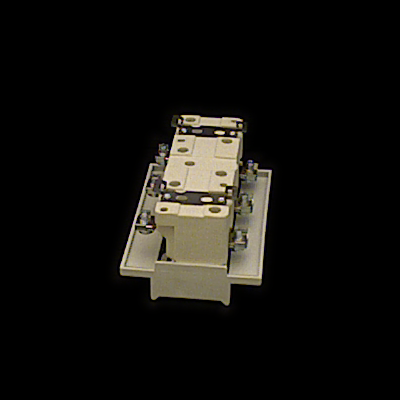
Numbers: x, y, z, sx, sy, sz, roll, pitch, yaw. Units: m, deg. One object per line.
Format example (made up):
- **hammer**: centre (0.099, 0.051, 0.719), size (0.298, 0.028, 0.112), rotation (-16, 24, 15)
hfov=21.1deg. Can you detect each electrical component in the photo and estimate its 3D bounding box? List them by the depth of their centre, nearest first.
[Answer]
- **electrical component**: centre (0.000, 0.000, 0.642), size (0.078, 0.064, 0.120), rotation (4, 32, 4)
